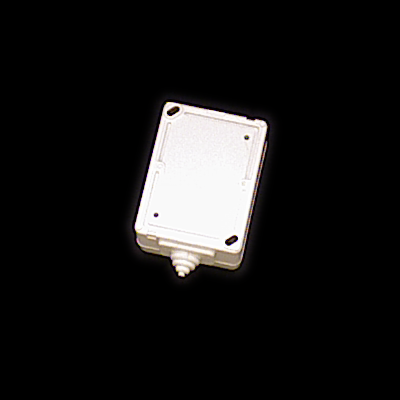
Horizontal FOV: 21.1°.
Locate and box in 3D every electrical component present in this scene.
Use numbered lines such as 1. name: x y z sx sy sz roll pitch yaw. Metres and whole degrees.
1. electrical component: 0.000 0.000 0.627 0.062 0.097 0.060 12 -16 4
